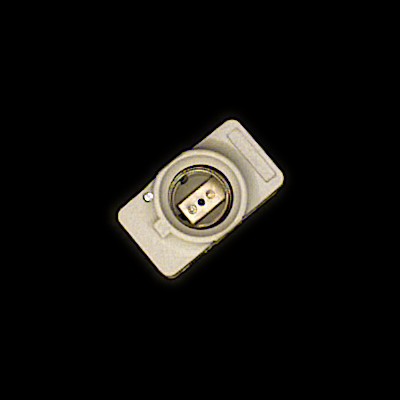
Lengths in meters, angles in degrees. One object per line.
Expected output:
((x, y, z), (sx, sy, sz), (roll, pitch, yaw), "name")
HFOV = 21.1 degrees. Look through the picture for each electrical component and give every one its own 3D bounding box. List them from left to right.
((0.000, 0.000, 0.637), (0.090, 0.050, 0.055), (-40, -5, -3), "electrical component")
